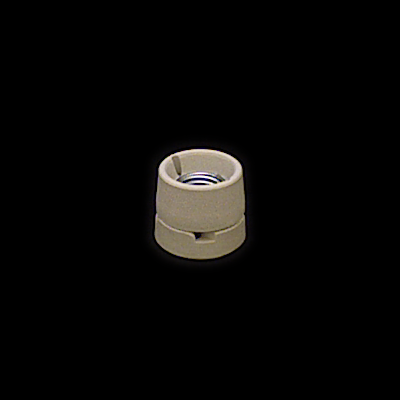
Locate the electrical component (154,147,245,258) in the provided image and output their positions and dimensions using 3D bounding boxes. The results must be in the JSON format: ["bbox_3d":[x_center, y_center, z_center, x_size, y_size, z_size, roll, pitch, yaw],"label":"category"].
[{"bbox_3d":[0.000,0.000,0.639,0.055,0.047,0.055,0,31,0],"label":"electrical component"}]
